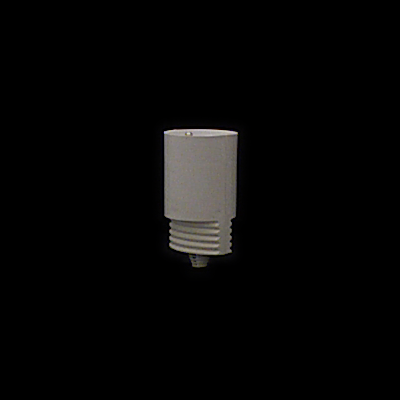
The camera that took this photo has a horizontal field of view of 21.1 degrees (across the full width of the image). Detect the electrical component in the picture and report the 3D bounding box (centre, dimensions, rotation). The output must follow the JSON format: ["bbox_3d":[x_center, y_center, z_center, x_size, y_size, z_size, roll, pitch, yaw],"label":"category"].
[{"bbox_3d":[0.000,0.000,0.641,0.043,0.081,0.043,1,10,0],"label":"electrical component"}]
